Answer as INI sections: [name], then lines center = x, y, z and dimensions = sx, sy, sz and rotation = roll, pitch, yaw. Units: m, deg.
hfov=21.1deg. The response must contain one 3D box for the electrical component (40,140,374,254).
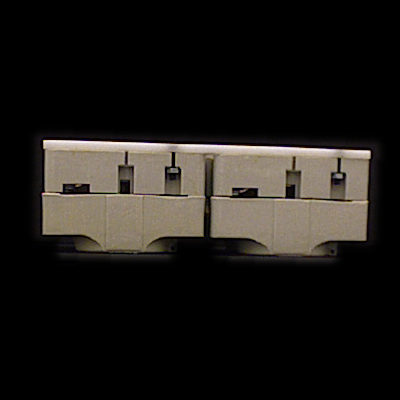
[electrical component]
center = 0.000, 0.000, 0.649
dimensions = 0.186, 0.060, 0.105
rotation = 1, -1, -6
